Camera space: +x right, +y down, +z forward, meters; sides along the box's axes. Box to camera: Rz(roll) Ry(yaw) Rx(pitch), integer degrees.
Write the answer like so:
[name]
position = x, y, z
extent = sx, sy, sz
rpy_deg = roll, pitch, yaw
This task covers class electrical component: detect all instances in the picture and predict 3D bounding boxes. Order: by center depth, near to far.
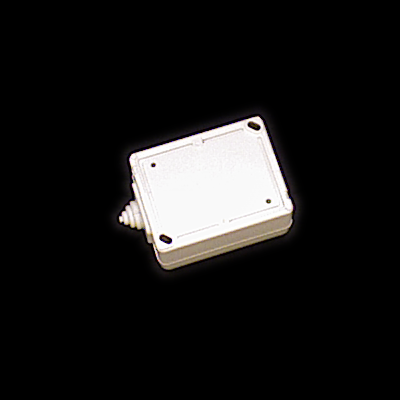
[electrical component]
position = 0.000, 0.000, 0.629
extent = 0.096, 0.062, 0.060
rpy_deg = -17, -16, -5
